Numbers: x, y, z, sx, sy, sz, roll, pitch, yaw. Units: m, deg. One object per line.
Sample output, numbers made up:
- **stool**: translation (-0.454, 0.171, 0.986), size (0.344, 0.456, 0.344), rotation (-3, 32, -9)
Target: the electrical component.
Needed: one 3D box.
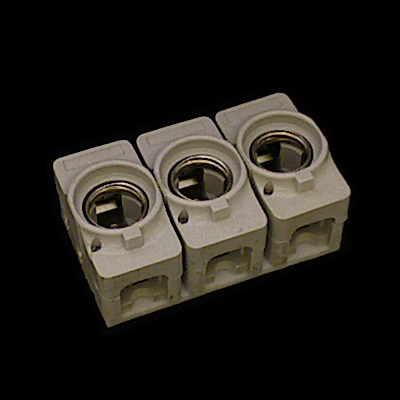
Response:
- **electrical component**: translation (0.000, 0.000, 0.633), size (0.150, 0.088, 0.062), rotation (-18, -35, -14)
